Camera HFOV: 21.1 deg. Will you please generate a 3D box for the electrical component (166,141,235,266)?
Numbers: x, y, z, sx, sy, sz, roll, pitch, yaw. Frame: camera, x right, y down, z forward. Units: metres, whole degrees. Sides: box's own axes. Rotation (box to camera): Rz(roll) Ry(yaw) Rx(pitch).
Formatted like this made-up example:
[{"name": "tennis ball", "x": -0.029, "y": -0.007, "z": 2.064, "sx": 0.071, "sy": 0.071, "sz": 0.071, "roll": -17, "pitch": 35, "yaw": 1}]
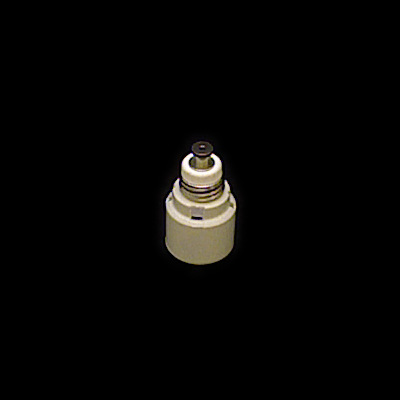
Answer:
[{"name": "electrical component", "x": 0.000, "y": 0.000, "z": 0.624, "sx": 0.040, "sy": 0.079, "sz": 0.039, "roll": 1, "pitch": 41, "yaw": -1}]
